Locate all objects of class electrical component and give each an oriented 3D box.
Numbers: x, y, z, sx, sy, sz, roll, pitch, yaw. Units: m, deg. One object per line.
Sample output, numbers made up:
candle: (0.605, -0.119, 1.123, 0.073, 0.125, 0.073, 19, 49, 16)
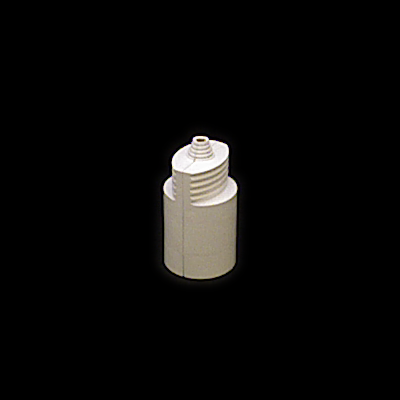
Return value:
electrical component: (0.000, 0.000, 0.629, 0.043, 0.082, 0.042, 1, 31, 0)
